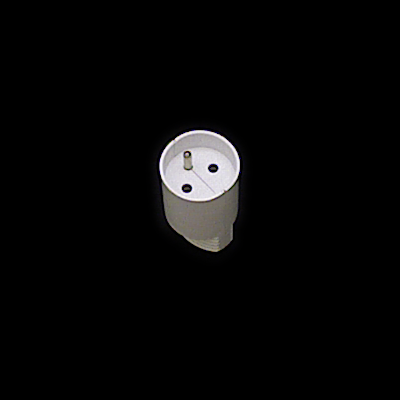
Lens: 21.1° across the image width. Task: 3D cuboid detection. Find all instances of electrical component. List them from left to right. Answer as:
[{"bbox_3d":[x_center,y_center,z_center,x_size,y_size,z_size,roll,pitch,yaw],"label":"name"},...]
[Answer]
[{"bbox_3d":[0.000,0.000,0.616,0.043,0.043,0.081,0,-28,0],"label":"electrical component"}]
